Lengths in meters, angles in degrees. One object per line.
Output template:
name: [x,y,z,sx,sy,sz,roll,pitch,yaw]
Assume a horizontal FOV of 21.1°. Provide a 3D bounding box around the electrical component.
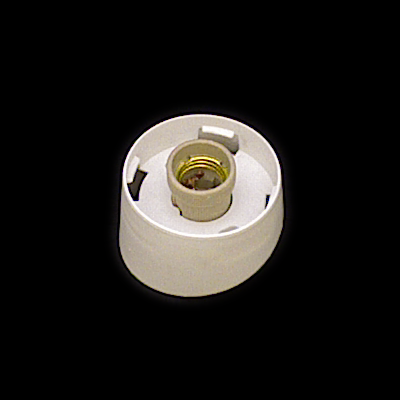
electrical component: [0.000,0.000,0.627,0.099,0.098,0.064,0,-37,0]
